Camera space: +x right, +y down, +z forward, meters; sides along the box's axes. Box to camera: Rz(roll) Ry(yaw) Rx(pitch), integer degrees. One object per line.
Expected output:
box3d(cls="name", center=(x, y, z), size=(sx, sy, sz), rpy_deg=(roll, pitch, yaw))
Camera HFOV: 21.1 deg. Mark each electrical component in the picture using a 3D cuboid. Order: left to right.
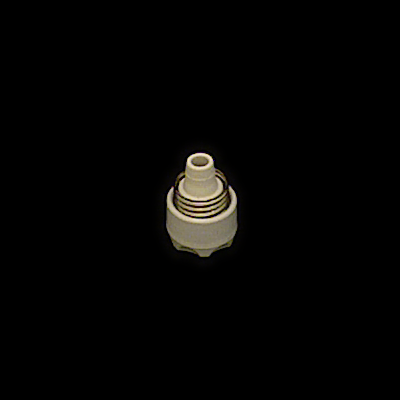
box3d(cls="electrical component", center=(0.000, 0.000, 0.638), size=(0.043, 0.062, 0.043), rpy_deg=(0, 42, 1))
